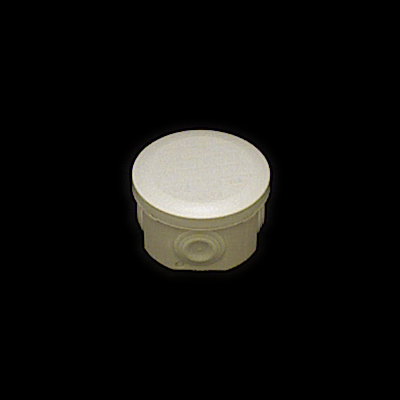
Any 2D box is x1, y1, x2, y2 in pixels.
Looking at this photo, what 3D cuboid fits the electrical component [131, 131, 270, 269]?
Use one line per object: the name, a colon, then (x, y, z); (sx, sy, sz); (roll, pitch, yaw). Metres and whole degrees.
electrical component: (0.000, 0.000, 0.632); (0.080, 0.051, 0.080); (1, 42, 0)
